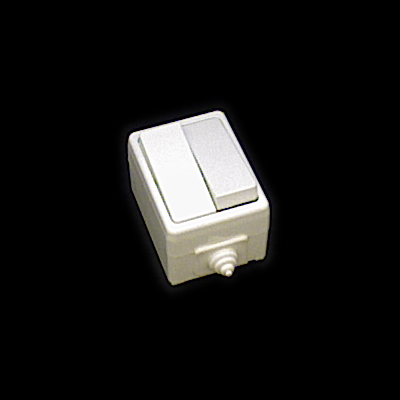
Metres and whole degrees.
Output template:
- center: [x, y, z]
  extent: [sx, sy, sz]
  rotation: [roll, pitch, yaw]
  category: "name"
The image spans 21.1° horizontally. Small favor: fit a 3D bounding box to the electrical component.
- center: [0.000, 0.000, 0.626]
  extent: [0.062, 0.096, 0.061]
  rotation: [-15, -36, -12]
  category: "electrical component"
